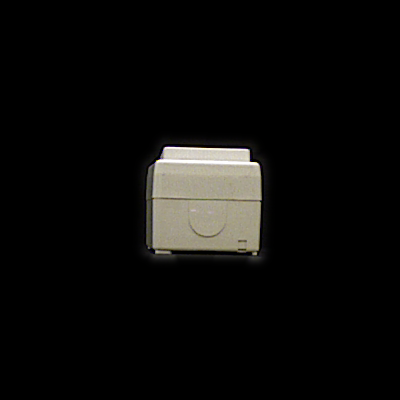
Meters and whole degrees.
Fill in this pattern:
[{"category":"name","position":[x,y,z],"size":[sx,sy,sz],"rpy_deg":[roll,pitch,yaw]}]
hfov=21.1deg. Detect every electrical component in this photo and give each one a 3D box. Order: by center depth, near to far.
[{"category":"electrical component","position":[0.000,0.000,0.652],"size":[0.062,0.061,0.096],"rpy_deg":[1,0,-6]}]
